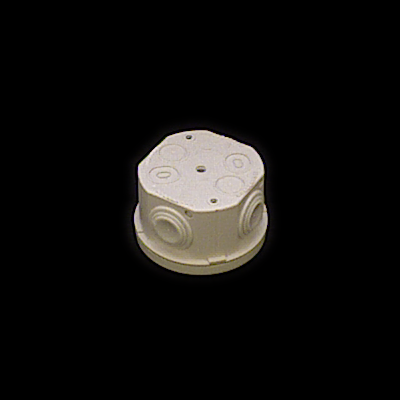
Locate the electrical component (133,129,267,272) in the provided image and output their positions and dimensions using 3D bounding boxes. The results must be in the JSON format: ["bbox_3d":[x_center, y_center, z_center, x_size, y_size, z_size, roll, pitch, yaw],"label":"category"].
[{"bbox_3d":[0.000,0.000,0.635,0.080,0.051,0.079,0,42,0],"label":"electrical component"}]
